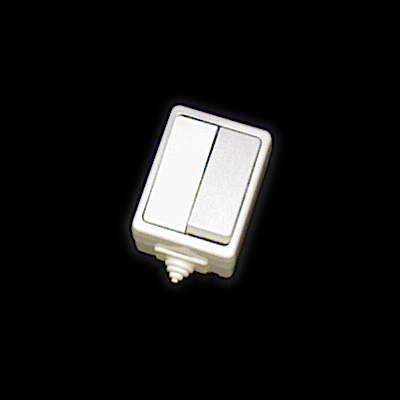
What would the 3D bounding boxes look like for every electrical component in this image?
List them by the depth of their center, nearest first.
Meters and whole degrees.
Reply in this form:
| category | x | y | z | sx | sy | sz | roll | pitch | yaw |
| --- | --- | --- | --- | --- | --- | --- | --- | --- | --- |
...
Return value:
| category | x | y | z | sx | sy | sz | roll | pitch | yaw |
| --- | --- | --- | --- | --- | --- | --- | --- | --- | --- |
| electrical component | 0.000 | 0.000 | 0.625 | 0.062 | 0.097 | 0.060 | 17 | -16 | 5 |
